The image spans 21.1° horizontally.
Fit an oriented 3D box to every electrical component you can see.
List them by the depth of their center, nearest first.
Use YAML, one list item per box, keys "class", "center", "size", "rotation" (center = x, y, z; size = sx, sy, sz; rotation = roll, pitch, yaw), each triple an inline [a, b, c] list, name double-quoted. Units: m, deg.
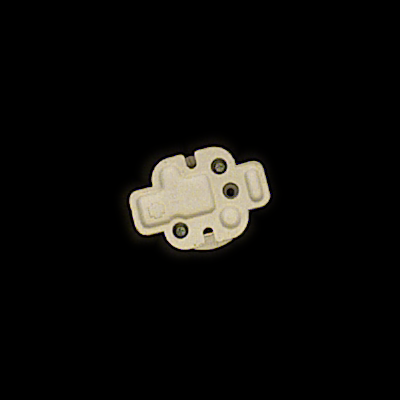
- class: "electrical component"
  center: [0.000, 0.000, 0.637]
  size: [0.078, 0.058, 0.057]
  rotation: [-15, -5, 1]
